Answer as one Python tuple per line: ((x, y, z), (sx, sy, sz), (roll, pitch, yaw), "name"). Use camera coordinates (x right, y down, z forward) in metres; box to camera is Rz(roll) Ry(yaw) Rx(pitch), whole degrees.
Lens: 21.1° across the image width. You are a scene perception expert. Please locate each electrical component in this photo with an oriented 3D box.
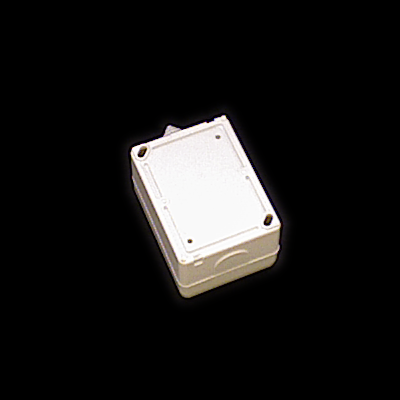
((0.000, 0.000, 0.629), (0.062, 0.096, 0.061), (-20, -26, -10), "electrical component")
